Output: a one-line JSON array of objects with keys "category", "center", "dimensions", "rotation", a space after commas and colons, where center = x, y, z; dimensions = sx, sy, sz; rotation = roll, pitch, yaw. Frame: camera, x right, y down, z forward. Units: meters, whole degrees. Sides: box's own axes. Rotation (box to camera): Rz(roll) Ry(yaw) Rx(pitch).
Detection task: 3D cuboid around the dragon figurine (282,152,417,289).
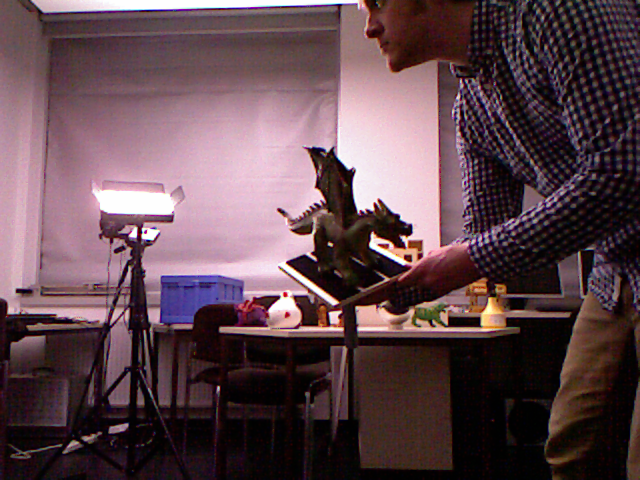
[{"category": "dragon figurine", "center": [0.020, -0.059, 0.991], "dimensions": [0.123, 0.238, 0.415], "rotation": [-25, 35, -30]}]
